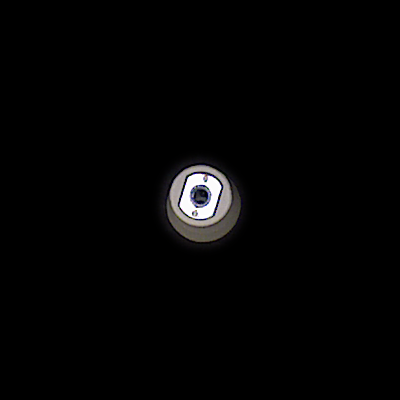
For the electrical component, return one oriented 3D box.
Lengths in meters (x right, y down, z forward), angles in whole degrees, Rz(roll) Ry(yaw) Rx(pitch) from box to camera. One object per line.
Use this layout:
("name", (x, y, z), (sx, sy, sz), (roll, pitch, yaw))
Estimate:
("electrical component", (0.000, 0.000, 0.626), (0.044, 0.044, 0.065), (0, -6, 2))
